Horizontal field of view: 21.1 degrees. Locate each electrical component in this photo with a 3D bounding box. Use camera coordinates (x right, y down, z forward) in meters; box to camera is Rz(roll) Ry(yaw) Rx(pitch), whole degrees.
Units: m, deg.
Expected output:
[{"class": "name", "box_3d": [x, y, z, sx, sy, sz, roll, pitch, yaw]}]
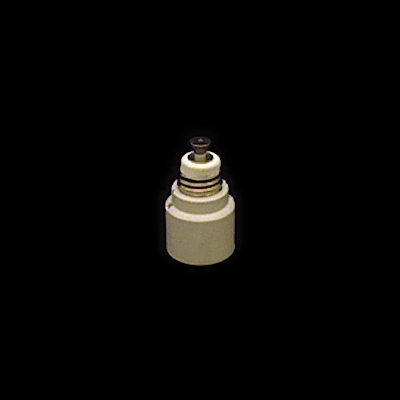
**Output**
[{"class": "electrical component", "box_3d": [0.000, 0.000, 0.630, 0.040, 0.079, 0.039, 0, 32, 0]}]
